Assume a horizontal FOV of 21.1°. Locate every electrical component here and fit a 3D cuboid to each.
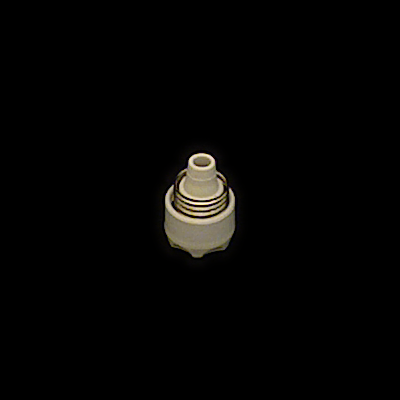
[{"bbox_3d":[0.000,0.000,0.638,0.043,0.062,0.043,1,42,-1],"label":"electrical component"}]
